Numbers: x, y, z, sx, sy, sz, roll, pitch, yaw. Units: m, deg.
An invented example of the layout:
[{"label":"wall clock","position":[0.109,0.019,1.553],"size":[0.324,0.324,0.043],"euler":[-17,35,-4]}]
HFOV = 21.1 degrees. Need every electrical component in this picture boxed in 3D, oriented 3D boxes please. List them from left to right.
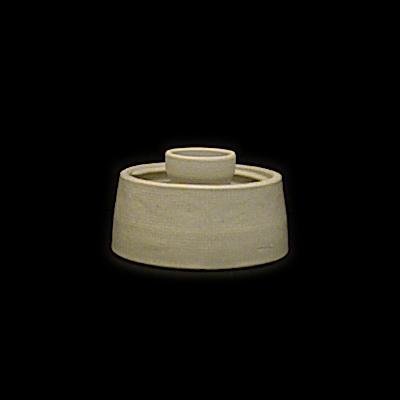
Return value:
[{"label":"electrical component","position":[0.000,0.000,0.652],"size":[0.108,0.061,0.107],"euler":[1,11,0]}]
